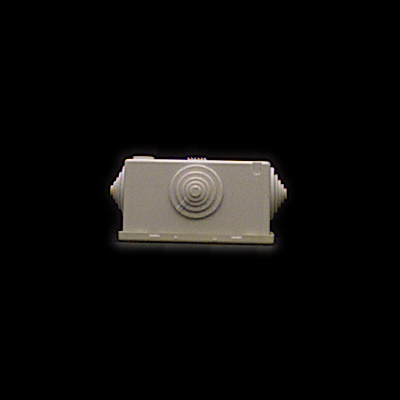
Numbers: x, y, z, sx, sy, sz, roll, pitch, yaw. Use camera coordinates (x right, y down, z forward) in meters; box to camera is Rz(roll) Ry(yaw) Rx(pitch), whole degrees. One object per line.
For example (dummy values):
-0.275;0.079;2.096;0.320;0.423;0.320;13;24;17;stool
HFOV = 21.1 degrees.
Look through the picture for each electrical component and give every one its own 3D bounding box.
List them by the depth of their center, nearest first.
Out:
0.000;0.000;0.648;0.100;0.048;0.099;1;0;3;electrical component
